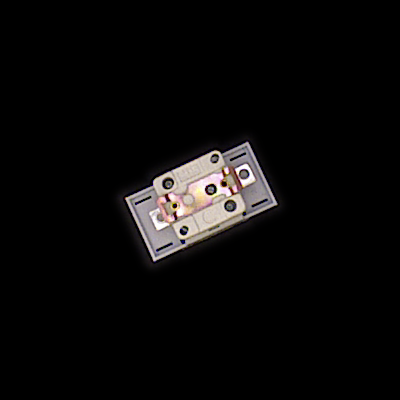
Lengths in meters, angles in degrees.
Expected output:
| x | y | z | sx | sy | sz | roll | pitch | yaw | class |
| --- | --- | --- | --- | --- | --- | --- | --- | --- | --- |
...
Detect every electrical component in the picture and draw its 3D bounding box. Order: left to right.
| x | y | z | sx | sy | sz | roll | pitch | yaw | class |
| --- | --- | --- | --- | --- | --- | --- | --- | --- | --- |
| 0.000 | 0.000 | 0.626 | 0.081 | 0.042 | 0.063 | -25 | -6 | -3 | electrical component |
